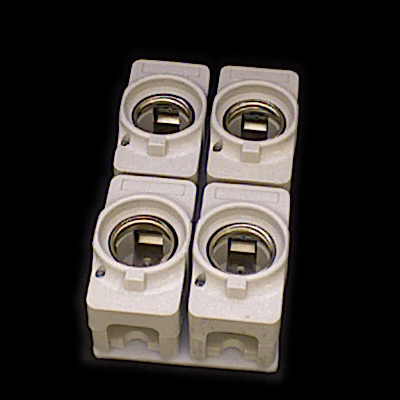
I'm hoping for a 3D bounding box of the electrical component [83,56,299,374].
[{"bbox_3d":[0.000,0.000,0.627,0.105,0.185,0.060,5,-37,3],"label":"electrical component"}]
